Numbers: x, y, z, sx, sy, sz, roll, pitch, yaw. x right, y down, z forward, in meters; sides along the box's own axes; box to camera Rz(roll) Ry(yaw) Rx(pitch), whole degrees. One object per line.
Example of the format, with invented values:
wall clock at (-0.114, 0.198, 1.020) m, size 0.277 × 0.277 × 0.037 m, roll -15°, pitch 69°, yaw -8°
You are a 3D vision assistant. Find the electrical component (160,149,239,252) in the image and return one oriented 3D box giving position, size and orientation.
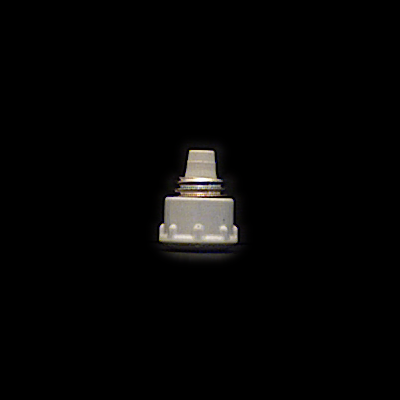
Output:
electrical component at (0.000, 0.000, 0.656) m, size 0.048 × 0.062 × 0.048 m, roll 2°, pitch 2°, yaw 0°
